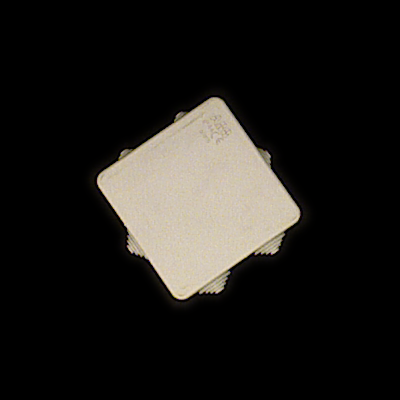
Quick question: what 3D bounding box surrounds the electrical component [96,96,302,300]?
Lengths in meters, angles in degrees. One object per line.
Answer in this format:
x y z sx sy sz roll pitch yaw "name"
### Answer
0.000 0.000 0.642 0.100 0.100 0.048 -34 -5 -4 "electrical component"
